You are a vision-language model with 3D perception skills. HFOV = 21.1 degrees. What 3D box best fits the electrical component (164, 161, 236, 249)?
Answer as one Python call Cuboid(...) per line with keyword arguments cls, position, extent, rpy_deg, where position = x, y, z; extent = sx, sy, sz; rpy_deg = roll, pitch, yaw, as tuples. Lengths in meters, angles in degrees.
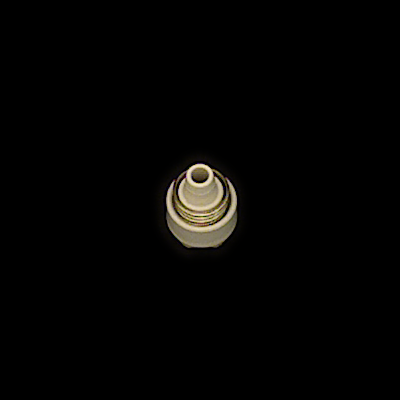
Cuboid(cls="electrical component", position=(0.000, 0.000, 0.634), extent=(0.043, 0.043, 0.062), rpy_deg=(0, -28, 1))
